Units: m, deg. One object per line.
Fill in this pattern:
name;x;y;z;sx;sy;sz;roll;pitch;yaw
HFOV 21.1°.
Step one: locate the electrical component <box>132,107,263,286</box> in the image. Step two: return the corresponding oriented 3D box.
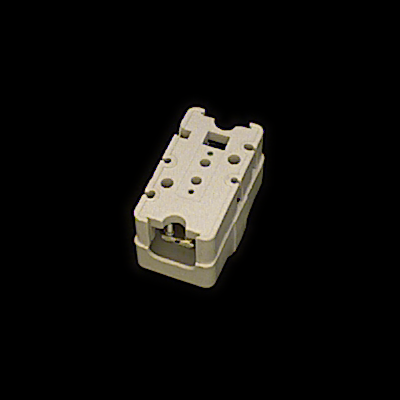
electrical component;0.000;0.000;0.637;0.050;0.090;0.056;17;-36;13
